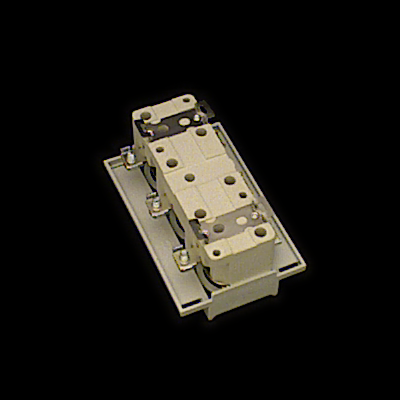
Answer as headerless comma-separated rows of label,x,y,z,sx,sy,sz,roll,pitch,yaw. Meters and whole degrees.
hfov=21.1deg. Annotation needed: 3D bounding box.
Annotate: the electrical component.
electrical component,0.000,0.000,0.636,0.079,0.120,0.063,-20,-34,-15
